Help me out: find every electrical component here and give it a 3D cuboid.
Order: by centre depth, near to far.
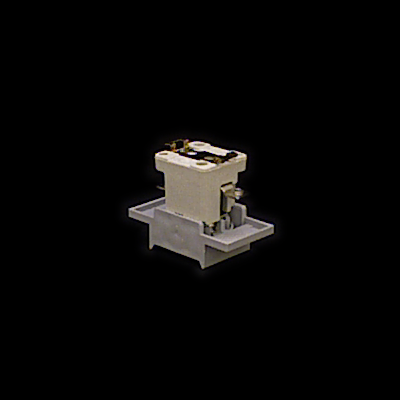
[{"bbox_3d":[0.000,0.000,0.638,0.080,0.064,0.042,19,28,38],"label":"electrical component"}]
